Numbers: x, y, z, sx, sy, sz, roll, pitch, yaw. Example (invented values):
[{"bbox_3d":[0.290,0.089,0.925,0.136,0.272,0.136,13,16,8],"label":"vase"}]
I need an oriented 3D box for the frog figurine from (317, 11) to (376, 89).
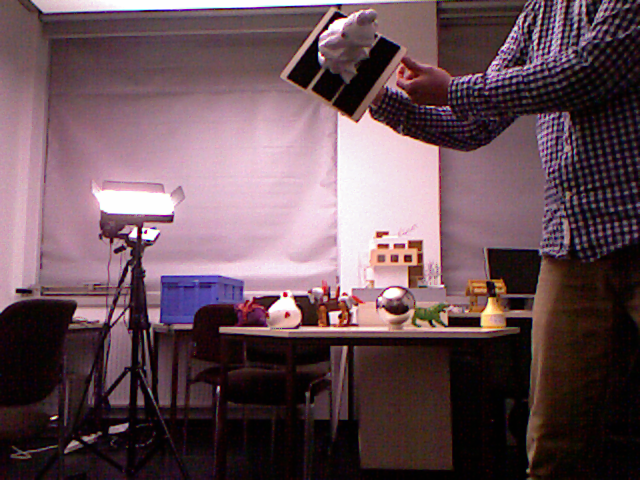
[{"bbox_3d":[0.054,-0.421,1.085,0.138,0.124,0.157,-36,-19,-9],"label":"frog figurine"}]
